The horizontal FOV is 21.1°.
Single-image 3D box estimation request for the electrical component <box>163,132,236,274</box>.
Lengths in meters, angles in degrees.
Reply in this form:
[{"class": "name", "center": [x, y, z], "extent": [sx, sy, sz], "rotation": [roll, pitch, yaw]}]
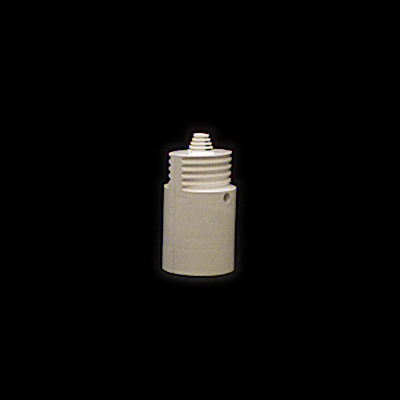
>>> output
[{"class": "electrical component", "center": [0.000, 0.000, 0.642], "extent": [0.043, 0.081, 0.043], "rotation": [1, 11, 0]}]
